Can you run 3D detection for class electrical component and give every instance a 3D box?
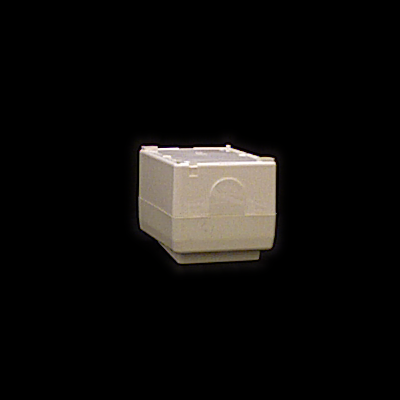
[{"bbox_3d":[0.000,0.000,0.647,0.062,0.061,0.095,-2,10,-18],"label":"electrical component"}]
